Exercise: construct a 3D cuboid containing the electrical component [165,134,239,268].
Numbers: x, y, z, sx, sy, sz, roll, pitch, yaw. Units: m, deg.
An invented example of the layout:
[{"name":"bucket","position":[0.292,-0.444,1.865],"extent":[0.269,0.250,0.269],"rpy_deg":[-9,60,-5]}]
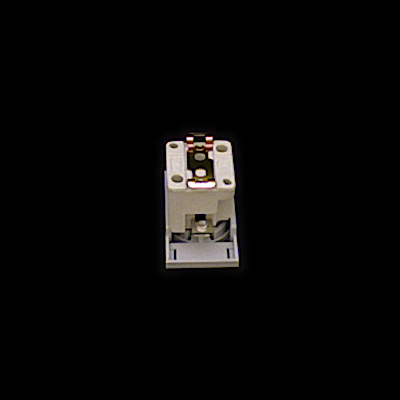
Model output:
[{"name":"electrical component","position":[0.000,0.000,0.629],"extent":[0.042,0.064,0.080],"rpy_deg":[-1,42,-3]}]
